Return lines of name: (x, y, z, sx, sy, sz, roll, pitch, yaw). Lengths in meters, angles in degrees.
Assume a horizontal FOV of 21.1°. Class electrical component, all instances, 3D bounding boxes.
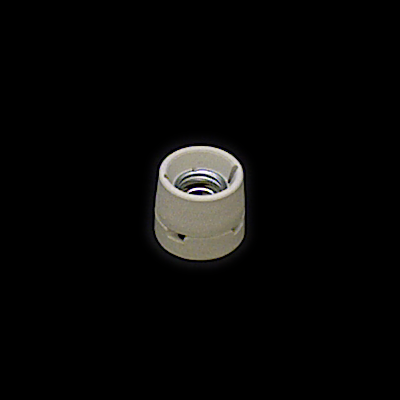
electrical component: (0.000, 0.000, 0.636, 0.055, 0.047, 0.055, 1, 42, -1)
